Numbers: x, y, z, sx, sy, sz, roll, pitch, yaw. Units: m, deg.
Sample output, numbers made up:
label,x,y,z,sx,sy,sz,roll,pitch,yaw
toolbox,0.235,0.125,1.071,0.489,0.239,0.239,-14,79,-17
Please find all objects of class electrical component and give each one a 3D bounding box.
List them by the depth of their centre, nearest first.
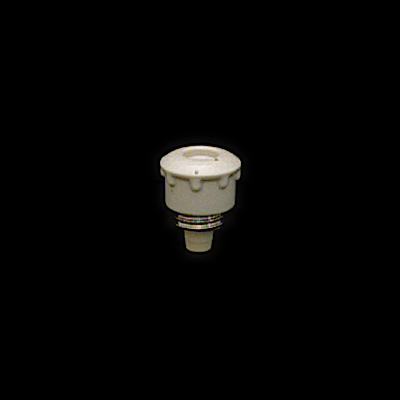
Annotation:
label,x,y,z,sx,sy,sz,roll,pitch,yaw
electrical component,0.000,0.000,0.647,0.048,0.063,0.047,1,22,0
